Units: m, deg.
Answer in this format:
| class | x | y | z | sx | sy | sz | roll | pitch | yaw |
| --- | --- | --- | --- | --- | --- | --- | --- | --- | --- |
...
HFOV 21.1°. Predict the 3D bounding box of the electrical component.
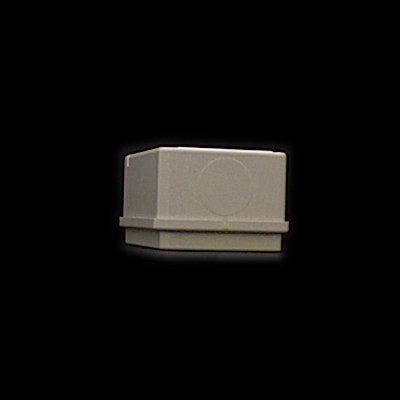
| class | x | y | z | sx | sy | sz | roll | pitch | yaw |
| --- | --- | --- | --- | --- | --- | --- | --- | --- | --- |
| electrical component | 0.000 | 0.000 | 0.649 | 0.078 | 0.057 | 0.113 | 1 | 0 | -15 |
